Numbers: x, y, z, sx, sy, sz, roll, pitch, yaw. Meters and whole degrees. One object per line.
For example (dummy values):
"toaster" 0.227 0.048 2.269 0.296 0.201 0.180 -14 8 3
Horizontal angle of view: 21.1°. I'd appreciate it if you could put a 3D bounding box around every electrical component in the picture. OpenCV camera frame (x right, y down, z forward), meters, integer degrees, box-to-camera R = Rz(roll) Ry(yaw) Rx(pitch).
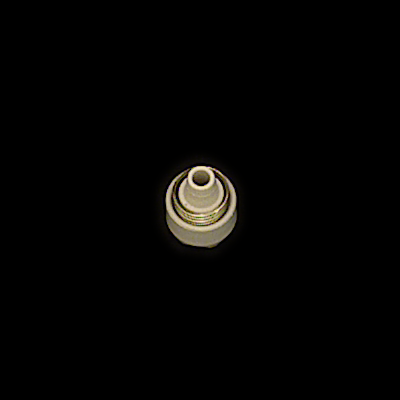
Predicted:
"electrical component" 0.000 0.000 0.633 0.043 0.043 0.062 0 -25 0
